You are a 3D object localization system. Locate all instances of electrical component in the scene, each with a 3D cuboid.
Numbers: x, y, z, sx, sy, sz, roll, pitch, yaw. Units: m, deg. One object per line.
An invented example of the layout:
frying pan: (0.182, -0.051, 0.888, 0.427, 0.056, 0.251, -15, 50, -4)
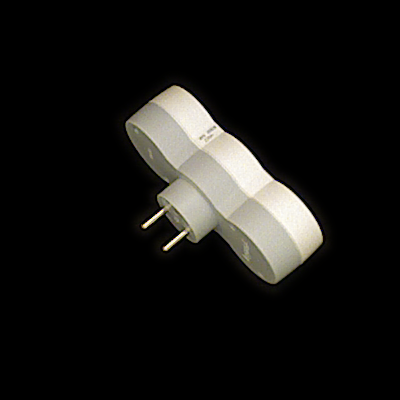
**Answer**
electrical component: (0.000, 0.000, 0.637, 0.074, 0.137, 0.052, -39, -20, -16)
